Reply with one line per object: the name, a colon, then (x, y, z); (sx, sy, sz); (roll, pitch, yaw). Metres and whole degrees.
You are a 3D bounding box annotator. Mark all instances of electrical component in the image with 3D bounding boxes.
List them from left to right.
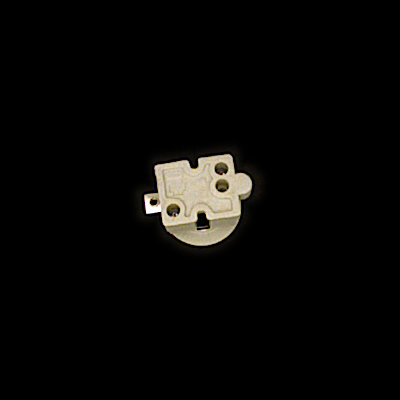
electrical component: (0.000, 0.000, 0.638); (0.066, 0.048, 0.055); (-8, -15, -1)
